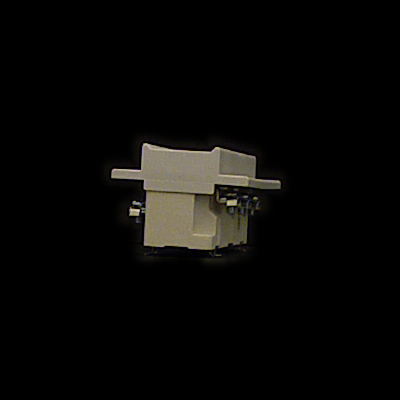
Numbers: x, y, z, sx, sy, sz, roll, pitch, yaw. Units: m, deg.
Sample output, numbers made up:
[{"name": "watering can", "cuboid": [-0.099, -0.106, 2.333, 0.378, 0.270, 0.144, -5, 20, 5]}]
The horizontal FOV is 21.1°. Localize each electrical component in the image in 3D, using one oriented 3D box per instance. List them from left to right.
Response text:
[{"name": "electrical component", "cuboid": [0.000, 0.000, 0.663, 0.078, 0.063, 0.121, 3, 1, 13]}]
